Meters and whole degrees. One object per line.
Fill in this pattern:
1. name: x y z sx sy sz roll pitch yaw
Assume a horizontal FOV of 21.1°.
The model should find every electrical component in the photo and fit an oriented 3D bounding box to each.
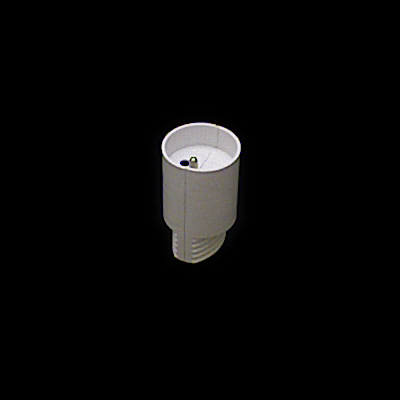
1. electrical component: 0.000 0.000 0.621 0.043 0.082 0.042 0 42 0
